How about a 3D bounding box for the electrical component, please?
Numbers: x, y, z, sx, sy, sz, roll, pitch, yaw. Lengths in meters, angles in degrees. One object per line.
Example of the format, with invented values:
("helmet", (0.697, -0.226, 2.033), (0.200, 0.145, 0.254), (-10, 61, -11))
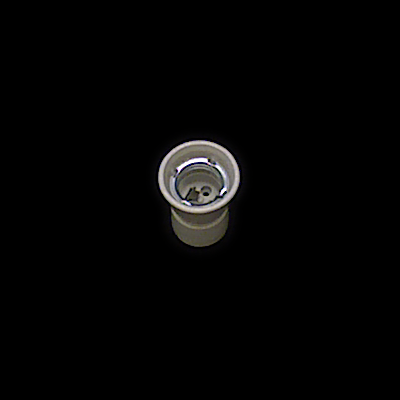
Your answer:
("electrical component", (0.000, 0.000, 0.624), (0.044, 0.044, 0.065), (0, -26, 0))
